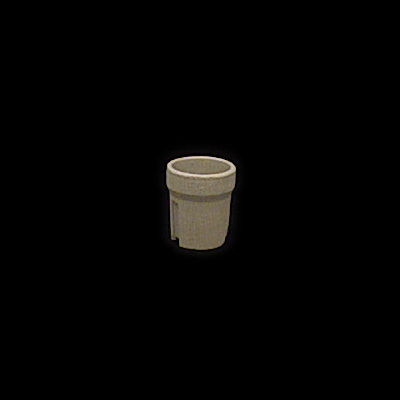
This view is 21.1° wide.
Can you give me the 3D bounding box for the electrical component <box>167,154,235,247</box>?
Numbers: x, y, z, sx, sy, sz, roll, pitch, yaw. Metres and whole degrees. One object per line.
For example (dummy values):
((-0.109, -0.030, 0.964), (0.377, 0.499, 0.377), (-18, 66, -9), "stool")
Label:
((0.000, 0.000, 0.641), (0.040, 0.047, 0.039), (1, 21, 0), "electrical component")
